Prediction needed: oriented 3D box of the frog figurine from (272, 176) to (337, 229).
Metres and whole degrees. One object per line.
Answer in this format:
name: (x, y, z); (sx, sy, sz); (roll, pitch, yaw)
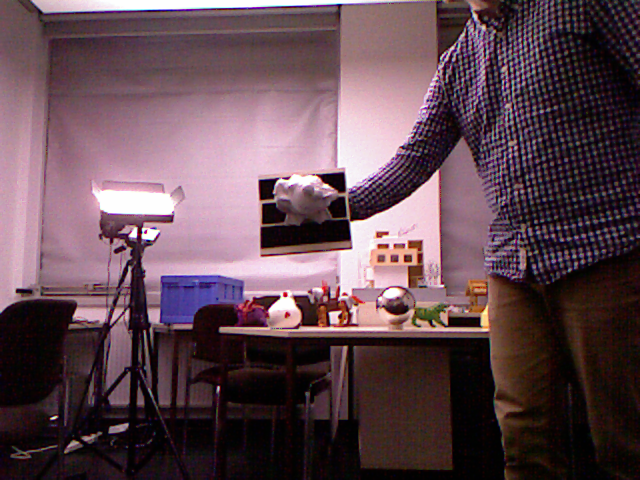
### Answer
frog figurine: (-0.035, -0.097, 1.080); (0.137, 0.125, 0.156); (11, -24, 8)
